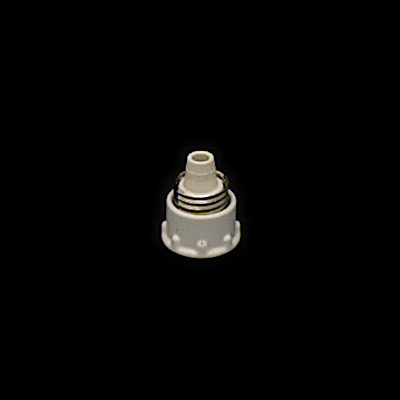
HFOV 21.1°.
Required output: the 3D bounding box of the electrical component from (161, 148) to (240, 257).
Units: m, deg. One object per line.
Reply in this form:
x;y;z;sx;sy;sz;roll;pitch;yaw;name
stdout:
0.000;0.000;0.639;0.048;0.063;0.047;0;33;1;electrical component
